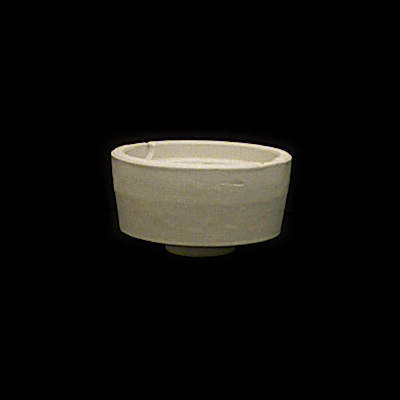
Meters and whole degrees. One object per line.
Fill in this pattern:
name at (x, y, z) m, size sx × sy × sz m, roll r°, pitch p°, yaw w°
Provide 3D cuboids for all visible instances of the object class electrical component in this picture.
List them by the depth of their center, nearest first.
electrical component at (0.000, 0.000, 0.650) m, size 0.108 × 0.061 × 0.107 m, roll 2°, pitch 11°, yaw 0°
